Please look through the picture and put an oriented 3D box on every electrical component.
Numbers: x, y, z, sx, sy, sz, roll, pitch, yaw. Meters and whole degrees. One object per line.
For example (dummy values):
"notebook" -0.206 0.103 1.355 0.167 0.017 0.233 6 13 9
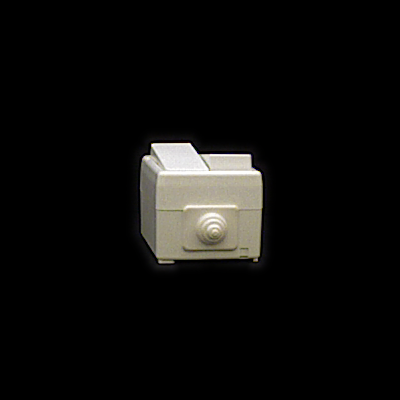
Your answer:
"electrical component" 0.000 0.000 0.642 0.062 0.061 0.095 -1 10 -10
